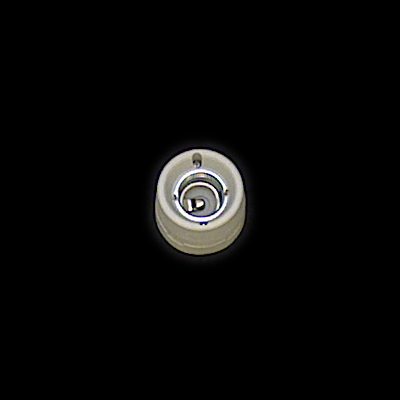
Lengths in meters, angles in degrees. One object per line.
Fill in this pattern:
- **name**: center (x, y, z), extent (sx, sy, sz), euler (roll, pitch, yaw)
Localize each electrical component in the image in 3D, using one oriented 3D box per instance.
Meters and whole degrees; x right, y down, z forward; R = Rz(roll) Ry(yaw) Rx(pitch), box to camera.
- **electrical component**: center (0.000, 0.000, 0.633), extent (0.055, 0.056, 0.047), euler (0, -18, 0)
